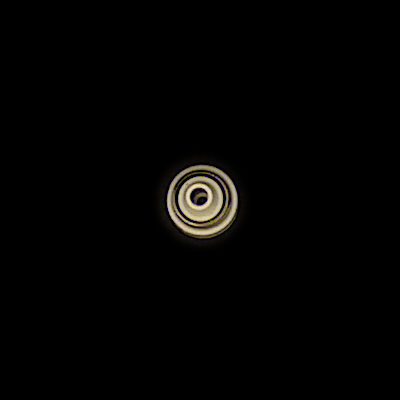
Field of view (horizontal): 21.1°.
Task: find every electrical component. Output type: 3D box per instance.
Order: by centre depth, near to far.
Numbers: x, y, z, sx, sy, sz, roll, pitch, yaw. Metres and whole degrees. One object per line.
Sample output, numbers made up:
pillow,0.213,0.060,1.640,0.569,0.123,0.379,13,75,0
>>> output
electrical component,0.000,0.000,0.635,0.043,0.043,0.062,0,-5,2
